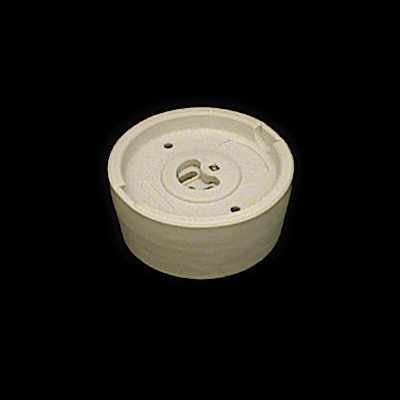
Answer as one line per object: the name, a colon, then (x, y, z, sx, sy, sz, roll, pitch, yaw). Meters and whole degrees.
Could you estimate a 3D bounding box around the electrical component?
electrical component: (0.000, 0.000, 0.641, 0.108, 0.061, 0.106, 1, 43, 0)
